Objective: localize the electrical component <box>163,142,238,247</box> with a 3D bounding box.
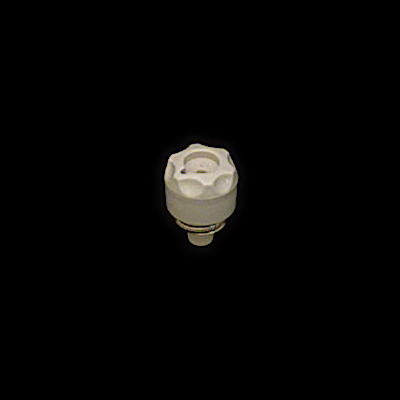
[{"bbox_3d":[0.000,0.000,0.639,0.043,0.062,0.043,1,42,0],"label":"electrical component"}]
